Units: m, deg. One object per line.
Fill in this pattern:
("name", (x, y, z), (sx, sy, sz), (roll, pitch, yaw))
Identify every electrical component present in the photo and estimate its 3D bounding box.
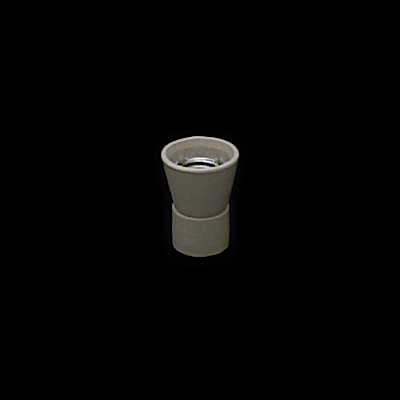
("electrical component", (0.000, 0.000, 0.634), (0.044, 0.066, 0.044), (0, 31, 0))
